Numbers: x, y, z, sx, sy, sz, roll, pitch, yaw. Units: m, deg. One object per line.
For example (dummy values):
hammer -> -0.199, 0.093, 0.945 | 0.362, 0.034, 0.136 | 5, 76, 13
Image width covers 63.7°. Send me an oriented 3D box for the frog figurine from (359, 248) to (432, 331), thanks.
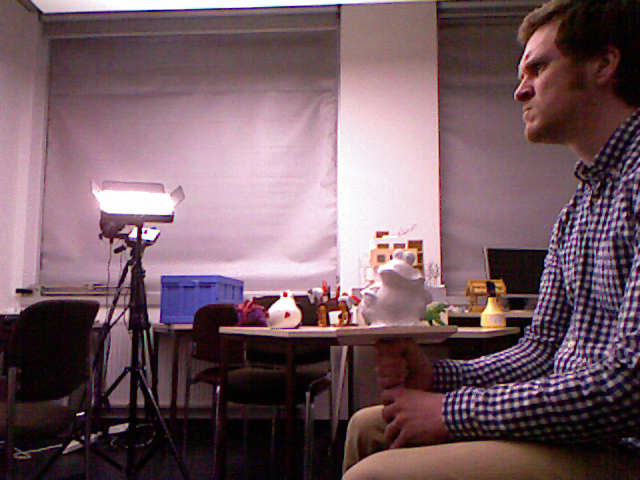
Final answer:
frog figurine -> 0.142, 0.099, 0.981 | 0.137, 0.161, 0.122 | -5, -12, 16
